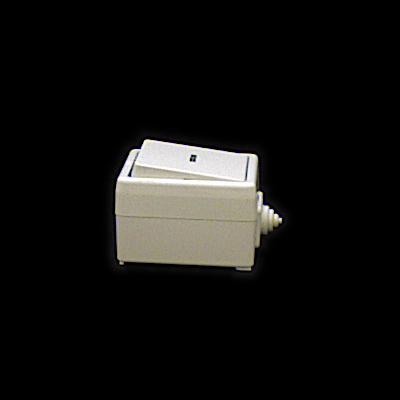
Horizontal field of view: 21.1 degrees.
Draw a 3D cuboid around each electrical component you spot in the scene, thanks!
[{"bbox_3d":[0.000,0.000,0.638,0.096,0.061,0.061,2,21,4],"label":"electrical component"}]
